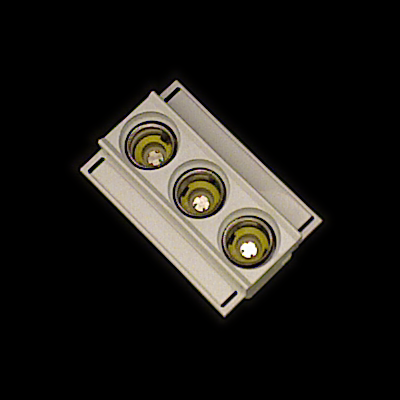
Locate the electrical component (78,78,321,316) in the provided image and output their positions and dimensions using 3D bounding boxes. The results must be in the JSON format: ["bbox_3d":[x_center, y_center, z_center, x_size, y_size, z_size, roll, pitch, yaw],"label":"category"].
[{"bbox_3d":[0.000,0.000,0.636,0.079,0.121,0.063,-43,-12,-9],"label":"electrical component"}]
